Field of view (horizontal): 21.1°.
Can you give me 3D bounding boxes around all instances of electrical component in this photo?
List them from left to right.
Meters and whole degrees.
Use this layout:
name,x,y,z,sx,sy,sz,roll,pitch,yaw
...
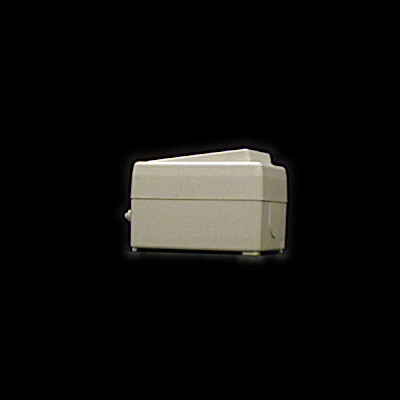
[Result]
name,x,y,z,sx,sy,sz,roll,pitch,yaw
electrical component,0.000,0.000,0.651,0.096,0.061,0.062,1,0,19
